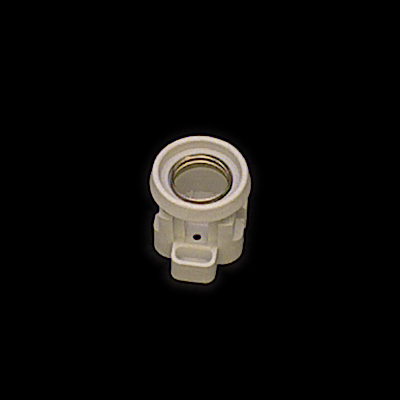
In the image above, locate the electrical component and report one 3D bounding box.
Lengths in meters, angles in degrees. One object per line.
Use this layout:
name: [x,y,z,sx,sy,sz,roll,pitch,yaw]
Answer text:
electrical component: [0.000,0.000,0.630,0.058,0.078,0.057,6,-37,4]
